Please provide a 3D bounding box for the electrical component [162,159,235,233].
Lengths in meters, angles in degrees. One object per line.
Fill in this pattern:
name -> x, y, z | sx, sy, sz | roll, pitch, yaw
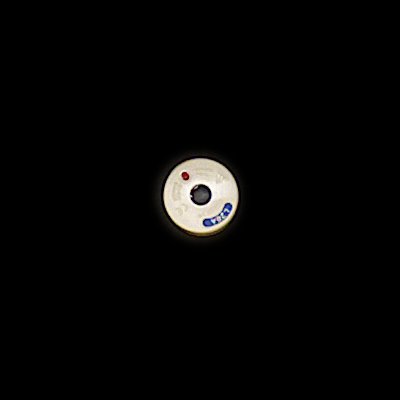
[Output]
electrical component -> 0.000, 0.000, 0.618 | 0.040, 0.040, 0.078 | 0, -6, 1
